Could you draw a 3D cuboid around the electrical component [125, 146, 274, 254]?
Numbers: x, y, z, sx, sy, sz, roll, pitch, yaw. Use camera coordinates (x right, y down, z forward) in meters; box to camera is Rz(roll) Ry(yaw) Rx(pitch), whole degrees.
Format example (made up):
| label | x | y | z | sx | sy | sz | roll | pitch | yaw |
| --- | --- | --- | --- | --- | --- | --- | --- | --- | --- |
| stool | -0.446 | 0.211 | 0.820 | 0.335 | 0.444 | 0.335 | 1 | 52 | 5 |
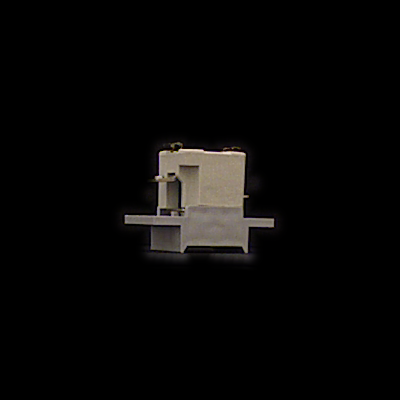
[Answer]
| label | x | y | z | sx | sy | sz | roll | pitch | yaw |
| --- | --- | --- | --- | --- | --- | --- | --- | --- | --- |
| electrical component | 0.000 | 0.000 | 0.650 | 0.081 | 0.064 | 0.042 | 1 | 1 | -29 |
